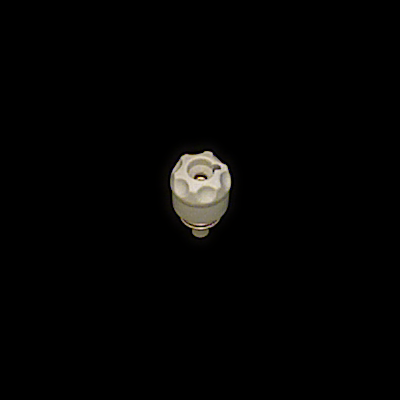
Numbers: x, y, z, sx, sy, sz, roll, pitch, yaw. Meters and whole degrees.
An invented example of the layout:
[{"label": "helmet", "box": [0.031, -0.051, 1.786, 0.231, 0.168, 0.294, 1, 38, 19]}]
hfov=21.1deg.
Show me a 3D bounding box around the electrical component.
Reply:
[{"label": "electrical component", "box": [0.000, 0.000, 0.635, 0.035, 0.035, 0.061, 0, -37, 0]}]
